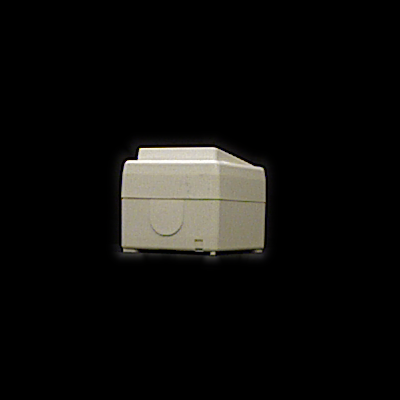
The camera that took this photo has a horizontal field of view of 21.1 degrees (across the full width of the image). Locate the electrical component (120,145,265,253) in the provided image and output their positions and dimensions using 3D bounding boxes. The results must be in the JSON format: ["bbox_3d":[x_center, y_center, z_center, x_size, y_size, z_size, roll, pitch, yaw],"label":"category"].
[{"bbox_3d":[0.000,0.000,0.652,0.061,0.061,0.096,1,0,24],"label":"electrical component"}]
